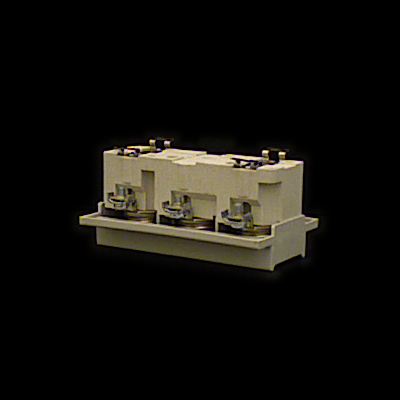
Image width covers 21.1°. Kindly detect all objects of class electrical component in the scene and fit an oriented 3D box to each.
[{"bbox_3d":[0.000,0.000,0.648,0.120,0.063,0.079,7,13,29],"label":"electrical component"}]
